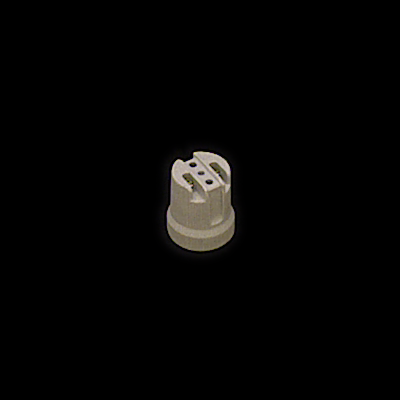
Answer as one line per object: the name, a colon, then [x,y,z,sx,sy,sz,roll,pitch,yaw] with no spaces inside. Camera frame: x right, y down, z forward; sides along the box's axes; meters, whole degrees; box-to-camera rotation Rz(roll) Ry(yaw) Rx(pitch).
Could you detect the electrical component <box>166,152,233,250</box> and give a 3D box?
electrical component: [0.000,0.000,0.634,0.040,0.046,0.040,0,42,0]
